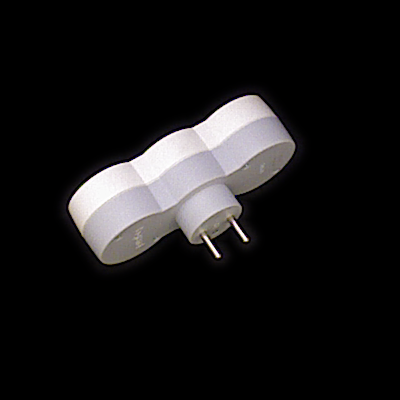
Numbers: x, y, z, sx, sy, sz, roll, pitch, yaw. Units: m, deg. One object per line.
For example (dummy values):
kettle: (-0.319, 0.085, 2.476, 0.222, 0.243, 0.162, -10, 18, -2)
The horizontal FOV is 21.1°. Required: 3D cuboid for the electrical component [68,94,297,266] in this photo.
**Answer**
electrical component: (0.000, 0.000, 0.631, 0.138, 0.074, 0.052, -29, -21, -15)
